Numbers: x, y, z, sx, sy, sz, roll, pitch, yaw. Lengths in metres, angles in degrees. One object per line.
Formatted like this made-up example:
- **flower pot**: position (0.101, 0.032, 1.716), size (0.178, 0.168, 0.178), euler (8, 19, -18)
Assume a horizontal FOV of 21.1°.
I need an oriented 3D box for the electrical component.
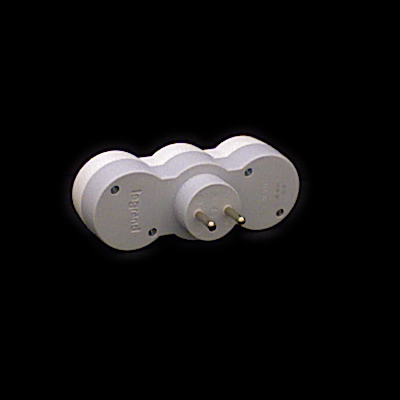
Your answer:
- **electrical component**: position (0.000, 0.000, 0.642), size (0.138, 0.053, 0.073), euler (-8, 25, -24)
